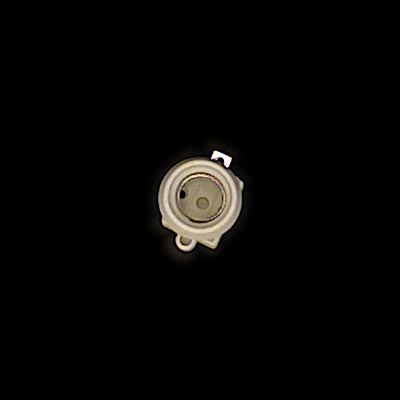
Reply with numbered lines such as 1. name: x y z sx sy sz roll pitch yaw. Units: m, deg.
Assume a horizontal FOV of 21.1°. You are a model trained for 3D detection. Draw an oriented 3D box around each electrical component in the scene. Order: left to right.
1. electrical component: 0.000 0.000 0.639 0.048 0.066 0.055 23 -5 1
